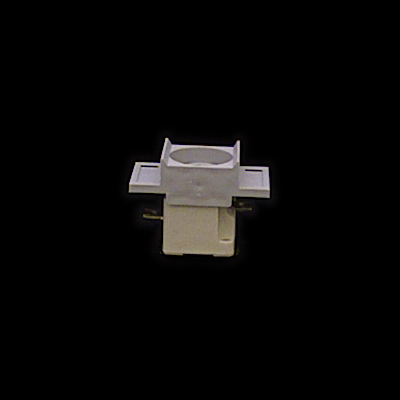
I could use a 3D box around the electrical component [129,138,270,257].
[{"bbox_3d":[0.000,0.000,0.637,0.081,0.064,0.041,2,22,1],"label":"electrical component"}]
